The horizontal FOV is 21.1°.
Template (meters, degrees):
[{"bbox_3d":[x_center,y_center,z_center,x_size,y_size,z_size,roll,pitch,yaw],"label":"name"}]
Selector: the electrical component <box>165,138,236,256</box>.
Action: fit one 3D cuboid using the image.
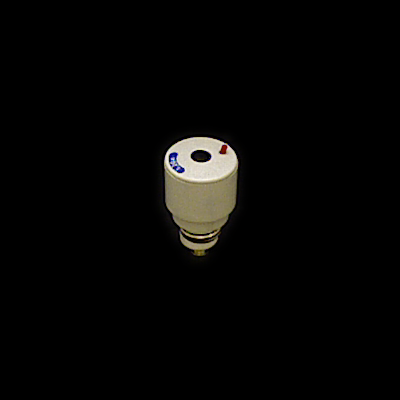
[{"bbox_3d":[0.000,0.000,0.624,0.040,0.079,0.039,1,41,-1],"label":"electrical component"}]
